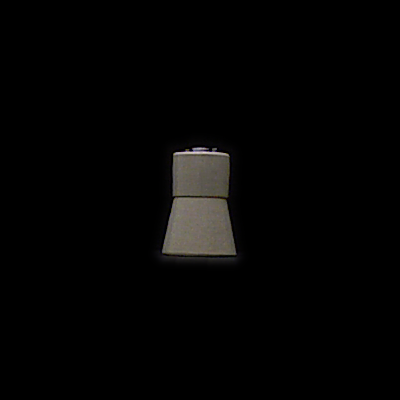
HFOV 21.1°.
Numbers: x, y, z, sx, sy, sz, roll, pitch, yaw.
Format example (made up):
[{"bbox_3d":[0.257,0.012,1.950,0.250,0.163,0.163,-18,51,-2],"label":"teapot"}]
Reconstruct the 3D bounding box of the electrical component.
[{"bbox_3d":[0.000,0.000,0.651,0.044,0.065,0.044,2,0,0],"label":"electrical component"}]
